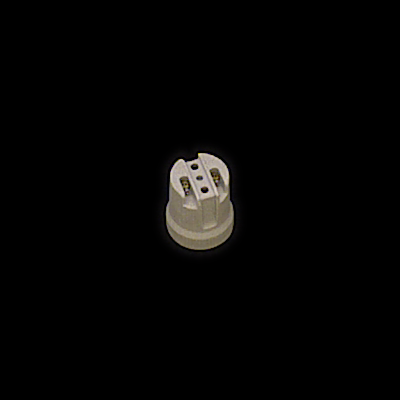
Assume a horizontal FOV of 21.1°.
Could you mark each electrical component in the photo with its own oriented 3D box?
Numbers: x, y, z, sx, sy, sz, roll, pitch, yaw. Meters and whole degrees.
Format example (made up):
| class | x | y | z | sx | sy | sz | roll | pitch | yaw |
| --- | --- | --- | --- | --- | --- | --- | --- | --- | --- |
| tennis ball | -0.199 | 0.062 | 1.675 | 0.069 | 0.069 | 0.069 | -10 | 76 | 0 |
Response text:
| class | x | y | z | sx | sy | sz | roll | pitch | yaw |
| --- | --- | --- | --- | --- | --- | --- | --- | --- | --- |
| electrical component | 0.000 | 0.000 | 0.633 | 0.040 | 0.040 | 0.046 | 0 | -38 | 0 |
